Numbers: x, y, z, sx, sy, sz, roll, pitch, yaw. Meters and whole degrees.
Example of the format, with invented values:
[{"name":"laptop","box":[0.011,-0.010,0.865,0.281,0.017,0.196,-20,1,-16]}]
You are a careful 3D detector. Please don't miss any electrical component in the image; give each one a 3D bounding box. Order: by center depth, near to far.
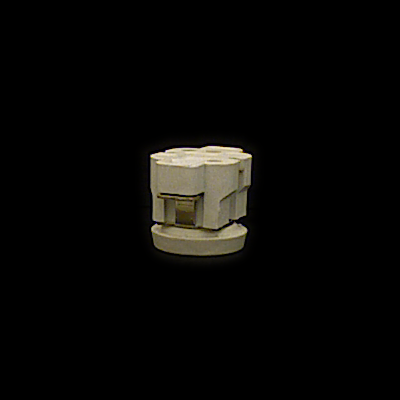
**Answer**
[{"name":"electrical component","box":[0.000,0.000,0.649,0.057,0.057,0.078,7,14,22]}]
